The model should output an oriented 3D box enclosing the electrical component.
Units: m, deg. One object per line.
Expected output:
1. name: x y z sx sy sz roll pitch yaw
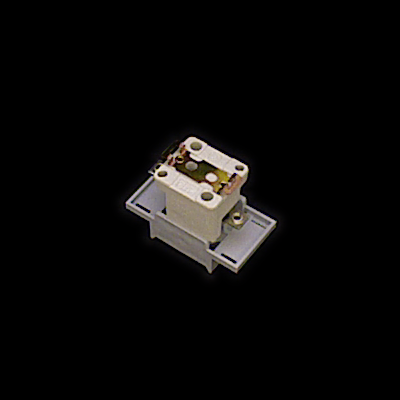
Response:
1. electrical component: 0.000 0.000 0.627 0.080 0.042 0.064 29 -33 20
